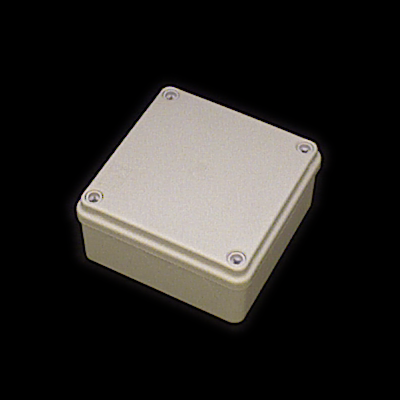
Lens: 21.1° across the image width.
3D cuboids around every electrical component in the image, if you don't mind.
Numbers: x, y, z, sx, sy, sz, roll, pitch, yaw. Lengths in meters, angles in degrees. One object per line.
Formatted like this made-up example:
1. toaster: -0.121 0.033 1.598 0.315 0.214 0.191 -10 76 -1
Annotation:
1. electrical component: 0.000 0.000 0.631 0.108 0.108 0.056 23 -35 16
